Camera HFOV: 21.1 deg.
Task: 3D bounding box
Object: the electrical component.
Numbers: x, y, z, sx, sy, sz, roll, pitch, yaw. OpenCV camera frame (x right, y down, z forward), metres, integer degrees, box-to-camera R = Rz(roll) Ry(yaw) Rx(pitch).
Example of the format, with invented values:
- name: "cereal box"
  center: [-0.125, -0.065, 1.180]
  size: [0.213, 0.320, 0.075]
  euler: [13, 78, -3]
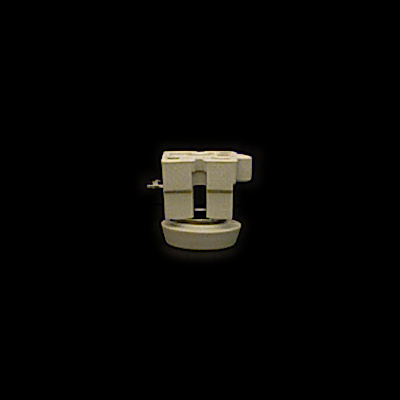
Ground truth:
- name: "electrical component"
  center: [0.000, 0.000, 0.652]
  size: [0.066, 0.056, 0.048]
  euler: [0, 13, 1]
